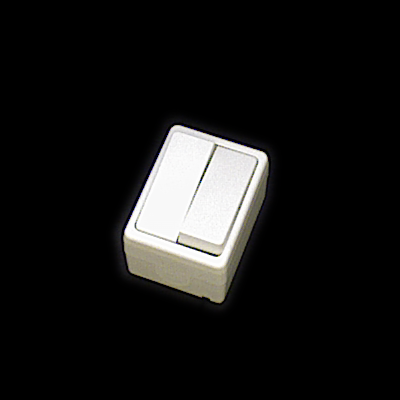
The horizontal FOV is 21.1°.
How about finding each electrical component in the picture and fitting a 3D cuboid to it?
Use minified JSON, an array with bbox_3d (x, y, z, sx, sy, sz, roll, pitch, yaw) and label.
[{"bbox_3d":[0.000,0.000,0.628,0.061,0.096,0.061,19,-26,10],"label":"electrical component"}]
